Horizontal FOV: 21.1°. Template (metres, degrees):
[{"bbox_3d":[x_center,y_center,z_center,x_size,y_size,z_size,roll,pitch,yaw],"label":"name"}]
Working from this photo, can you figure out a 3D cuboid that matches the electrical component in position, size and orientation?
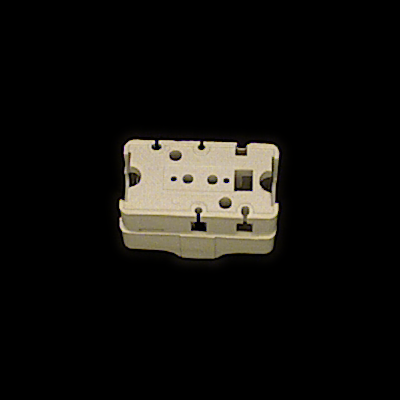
[{"bbox_3d":[0.000,0.000,0.636,0.089,0.050,0.055,2,-27,0],"label":"electrical component"}]
